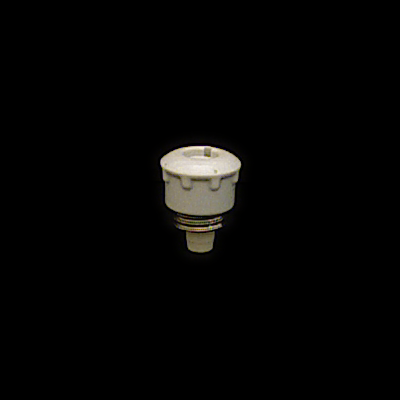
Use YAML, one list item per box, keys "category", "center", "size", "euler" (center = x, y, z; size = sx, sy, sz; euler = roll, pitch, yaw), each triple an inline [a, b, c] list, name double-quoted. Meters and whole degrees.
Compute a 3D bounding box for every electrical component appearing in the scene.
- category: "electrical component"
  center: [0.000, 0.000, 0.646]
  size: [0.048, 0.063, 0.047]
  euler: [1, 22, 0]
